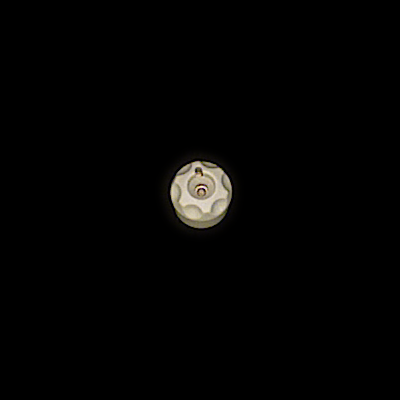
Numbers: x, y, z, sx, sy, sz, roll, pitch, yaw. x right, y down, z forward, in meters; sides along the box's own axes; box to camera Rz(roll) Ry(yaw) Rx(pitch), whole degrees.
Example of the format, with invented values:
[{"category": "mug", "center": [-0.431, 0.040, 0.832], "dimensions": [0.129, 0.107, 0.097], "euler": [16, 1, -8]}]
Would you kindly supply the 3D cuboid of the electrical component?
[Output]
[{"category": "electrical component", "center": [0.000, 0.000, 0.634], "dimensions": [0.035, 0.035, 0.061], "euler": [0, -16, 1]}]
